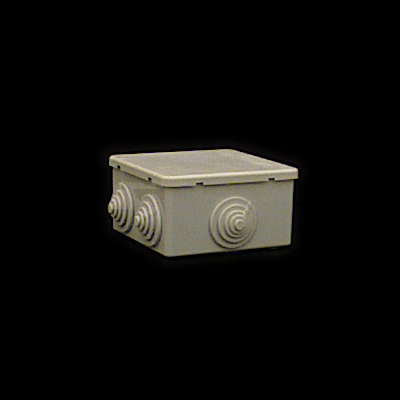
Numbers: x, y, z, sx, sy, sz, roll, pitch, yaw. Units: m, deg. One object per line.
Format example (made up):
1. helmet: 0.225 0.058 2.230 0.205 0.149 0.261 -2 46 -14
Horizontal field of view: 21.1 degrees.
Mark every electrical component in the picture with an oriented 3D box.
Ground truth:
1. electrical component: 0.000 0.000 0.653 0.100 0.049 0.098 -4 13 -26
